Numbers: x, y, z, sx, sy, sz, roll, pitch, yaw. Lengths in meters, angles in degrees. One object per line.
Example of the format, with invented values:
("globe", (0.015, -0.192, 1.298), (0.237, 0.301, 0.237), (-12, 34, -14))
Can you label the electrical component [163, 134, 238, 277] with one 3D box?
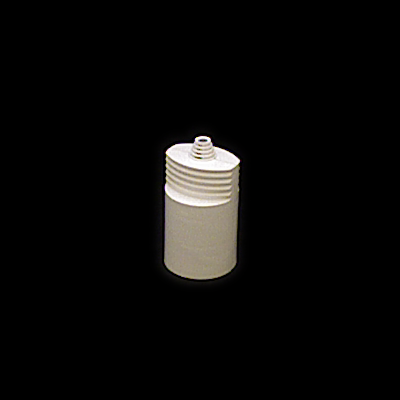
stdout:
("electrical component", (0.000, 0.000, 0.628), (0.043, 0.082, 0.042), (1, 31, 0))
